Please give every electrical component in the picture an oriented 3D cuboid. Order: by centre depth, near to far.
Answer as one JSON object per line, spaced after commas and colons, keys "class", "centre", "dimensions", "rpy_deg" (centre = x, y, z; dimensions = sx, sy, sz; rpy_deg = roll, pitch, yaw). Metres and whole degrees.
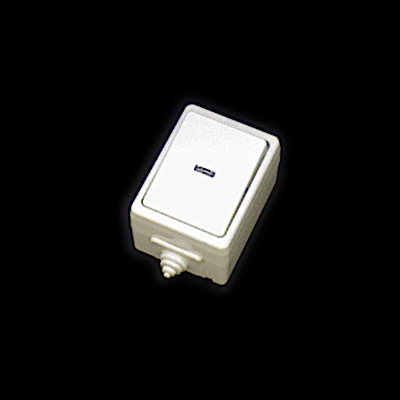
{"class": "electrical component", "centre": [0.000, 0.000, 0.625], "dimensions": [0.061, 0.097, 0.060], "rpy_deg": [22, -25, 11]}
